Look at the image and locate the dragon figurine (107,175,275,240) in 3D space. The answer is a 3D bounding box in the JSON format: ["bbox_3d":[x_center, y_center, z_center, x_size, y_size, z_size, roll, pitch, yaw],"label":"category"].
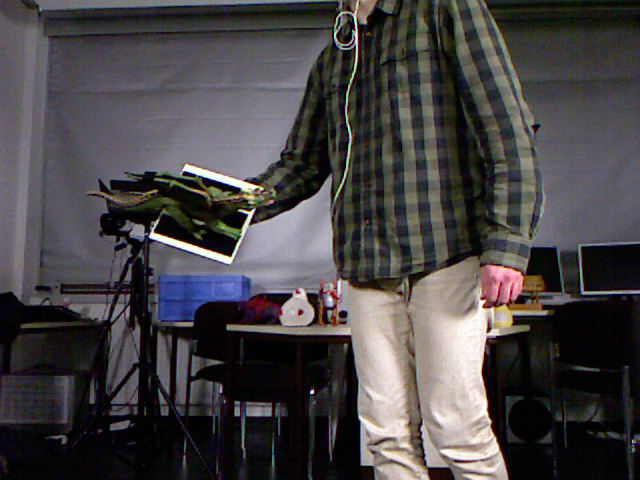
[{"bbox_3d":[-0.298,-0.094,1.090,0.411,0.124,0.239,4,-17,3],"label":"dragon figurine"}]
